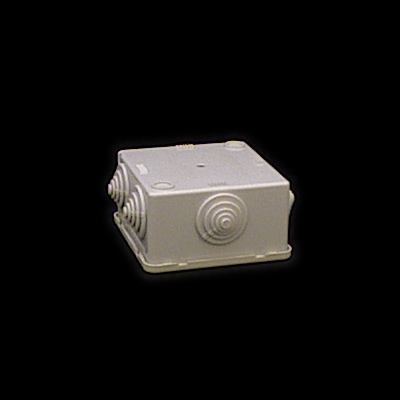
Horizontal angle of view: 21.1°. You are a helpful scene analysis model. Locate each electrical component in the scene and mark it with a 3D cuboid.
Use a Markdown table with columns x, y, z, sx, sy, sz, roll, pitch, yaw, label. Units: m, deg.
| x | y | z | sx | sy | sz | roll | pitch | yaw | label |
| --- | --- | --- | --- | --- | --- | --- | --- | --- | --- |
| 0.000 | 0.000 | 0.642 | 0.100 | 0.049 | 0.098 | -5 | 22 | -16 | electrical component |
